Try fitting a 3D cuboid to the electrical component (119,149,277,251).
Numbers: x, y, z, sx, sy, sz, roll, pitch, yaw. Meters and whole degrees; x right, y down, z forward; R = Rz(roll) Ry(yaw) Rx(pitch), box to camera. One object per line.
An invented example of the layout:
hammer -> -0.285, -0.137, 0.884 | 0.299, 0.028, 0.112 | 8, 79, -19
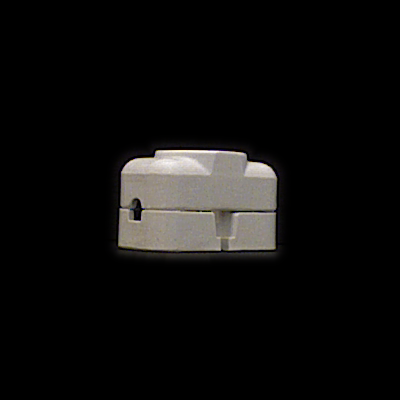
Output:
electrical component -> 0.000, 0.000, 0.658 | 0.096, 0.059, 0.053 | 1, 2, -39
